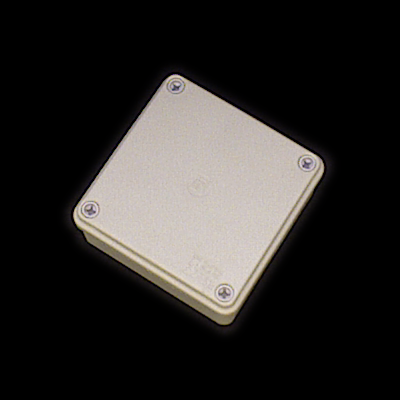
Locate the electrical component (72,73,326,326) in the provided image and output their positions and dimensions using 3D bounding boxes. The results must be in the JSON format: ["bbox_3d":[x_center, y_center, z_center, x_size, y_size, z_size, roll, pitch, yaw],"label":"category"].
[{"bbox_3d":[0.000,0.000,0.630,0.109,0.109,0.056,31,-15,9],"label":"electrical component"}]
